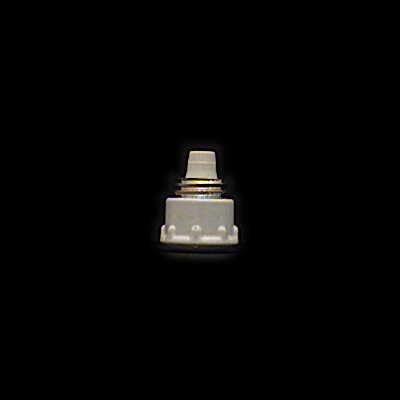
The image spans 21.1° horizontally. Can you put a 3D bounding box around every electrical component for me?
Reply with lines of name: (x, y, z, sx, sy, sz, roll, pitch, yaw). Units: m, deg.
electrical component: (0.000, 0.000, 0.658, 0.048, 0.062, 0.048, 2, 1, 1)
